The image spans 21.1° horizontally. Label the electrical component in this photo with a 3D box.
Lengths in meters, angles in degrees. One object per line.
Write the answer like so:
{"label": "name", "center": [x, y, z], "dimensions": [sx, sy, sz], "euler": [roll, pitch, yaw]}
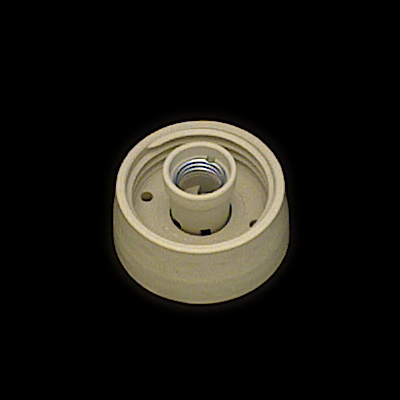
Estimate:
{"label": "electrical component", "center": [0.000, 0.000, 0.636], "dimensions": [0.108, 0.107, 0.060], "euler": [0, -37, 0]}
